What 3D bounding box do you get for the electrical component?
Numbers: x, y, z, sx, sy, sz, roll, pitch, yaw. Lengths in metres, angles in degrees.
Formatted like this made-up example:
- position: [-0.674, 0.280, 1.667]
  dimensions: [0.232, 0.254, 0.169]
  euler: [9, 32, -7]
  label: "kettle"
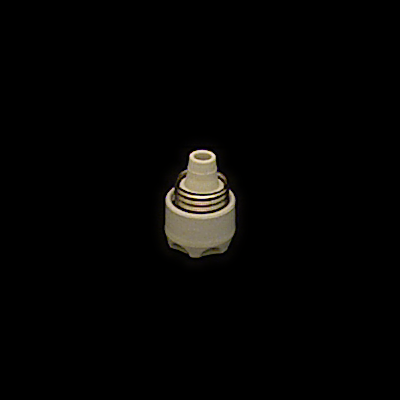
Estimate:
- position: [0.000, 0.000, 0.641]
  dimensions: [0.043, 0.063, 0.043]
  euler: [2, 32, -1]
  label: "electrical component"
